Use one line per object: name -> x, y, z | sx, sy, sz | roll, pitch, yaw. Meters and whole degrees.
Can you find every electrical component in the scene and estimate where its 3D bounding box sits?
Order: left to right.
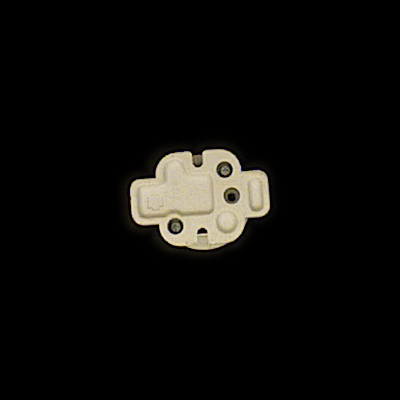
electrical component -> 0.000, 0.000, 0.637 | 0.078, 0.058, 0.057 | -5, -5, 1
